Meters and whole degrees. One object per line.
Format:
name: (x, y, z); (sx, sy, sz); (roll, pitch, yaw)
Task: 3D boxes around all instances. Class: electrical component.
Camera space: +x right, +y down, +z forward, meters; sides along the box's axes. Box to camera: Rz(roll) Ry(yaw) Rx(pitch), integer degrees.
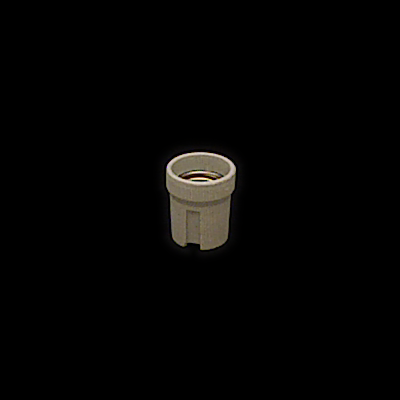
electrical component: (0.000, 0.000, 0.638); (0.040, 0.047, 0.039); (1, 31, 0)
